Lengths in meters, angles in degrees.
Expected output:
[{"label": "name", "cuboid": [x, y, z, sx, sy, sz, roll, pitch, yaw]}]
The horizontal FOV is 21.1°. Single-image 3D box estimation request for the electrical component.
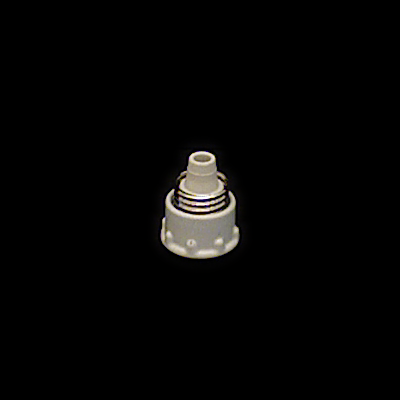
[{"label": "electrical component", "cuboid": [0.000, 0.000, 0.641, 0.048, 0.063, 0.047, 1, 33, 0]}]
